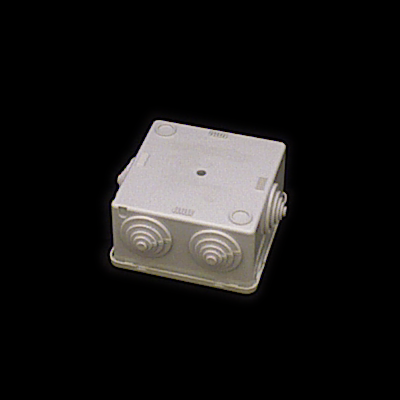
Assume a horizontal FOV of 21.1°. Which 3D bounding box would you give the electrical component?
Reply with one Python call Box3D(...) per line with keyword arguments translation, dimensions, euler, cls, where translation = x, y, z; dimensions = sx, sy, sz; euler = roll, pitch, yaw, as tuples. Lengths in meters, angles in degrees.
Box3D(translation=(0.000, 0.000, 0.634), dimensions=(0.099, 0.049, 0.099), euler=(11, 43, 11), cls="electrical component")
